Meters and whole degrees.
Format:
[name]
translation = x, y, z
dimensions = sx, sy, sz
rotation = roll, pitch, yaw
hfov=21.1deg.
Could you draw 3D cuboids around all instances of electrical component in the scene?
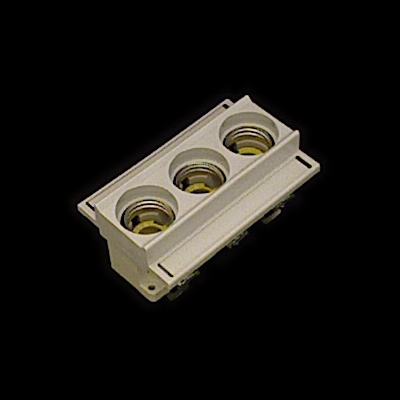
[electrical component]
translation = 0.000, 0.000, 0.639
dimensions = 0.121, 0.063, 0.078
rotation = -37, 60, -24
